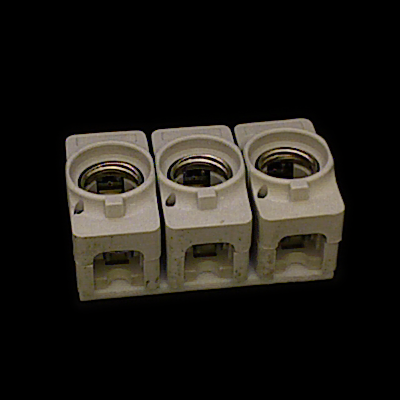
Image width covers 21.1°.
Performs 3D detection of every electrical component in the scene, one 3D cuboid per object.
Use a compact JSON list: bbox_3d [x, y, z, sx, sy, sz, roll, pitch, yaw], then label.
[{"bbox_3d":[0.000,0.000,0.635,0.150,0.063,0.088,-5,43,-6],"label":"electrical component"}]
